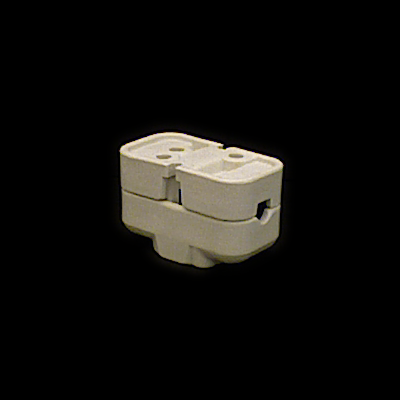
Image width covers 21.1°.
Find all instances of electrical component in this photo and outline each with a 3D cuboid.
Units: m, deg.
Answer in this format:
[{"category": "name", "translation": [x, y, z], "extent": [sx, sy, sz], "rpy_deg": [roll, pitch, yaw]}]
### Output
[{"category": "electrical component", "translation": [0.000, 0.000, 0.643], "extent": [0.094, 0.060, 0.054], "rpy_deg": [17, 27, 34]}]
